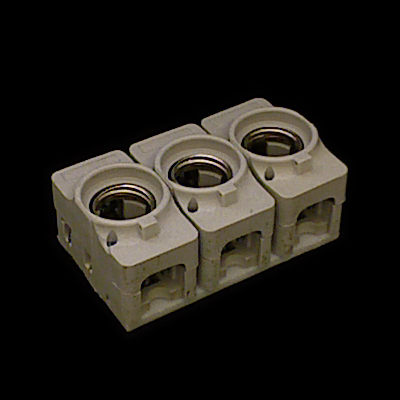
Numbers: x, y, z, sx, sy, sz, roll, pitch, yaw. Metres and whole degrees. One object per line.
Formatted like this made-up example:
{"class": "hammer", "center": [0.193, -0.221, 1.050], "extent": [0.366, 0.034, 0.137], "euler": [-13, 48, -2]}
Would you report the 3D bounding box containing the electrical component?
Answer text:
{"class": "electrical component", "center": [0.000, 0.000, 0.636], "extent": [0.149, 0.063, 0.088], "euler": [-23, 47, -24]}
